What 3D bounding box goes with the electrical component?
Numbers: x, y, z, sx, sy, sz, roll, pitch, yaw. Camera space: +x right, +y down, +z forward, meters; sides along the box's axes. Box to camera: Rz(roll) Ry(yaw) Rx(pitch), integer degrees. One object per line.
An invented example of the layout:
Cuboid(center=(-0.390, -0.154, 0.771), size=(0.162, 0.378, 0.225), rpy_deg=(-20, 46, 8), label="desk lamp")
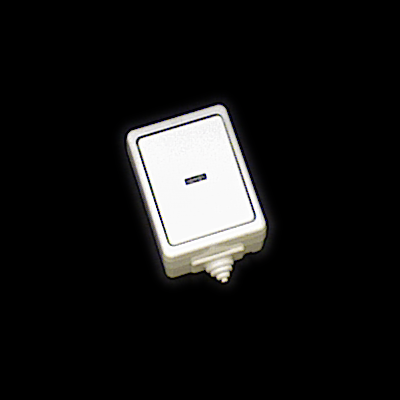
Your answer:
Cuboid(center=(0.000, 0.000, 0.625), size=(0.062, 0.097, 0.060), rpy_deg=(-17, -16, -5), label="electrical component")
